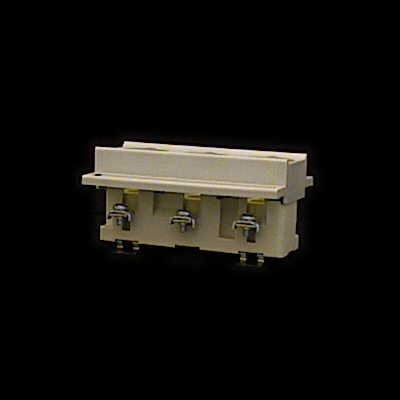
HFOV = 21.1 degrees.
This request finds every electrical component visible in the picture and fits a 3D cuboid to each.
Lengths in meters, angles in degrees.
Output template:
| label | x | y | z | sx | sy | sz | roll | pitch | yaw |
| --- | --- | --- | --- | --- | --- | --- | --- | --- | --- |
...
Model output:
| label | x | y | z | sx | sy | sz | roll | pitch | yaw |
| --- | --- | --- | --- | --- | --- | --- | --- | --- | --- |
| electrical component | 0.000 | 0.000 | 0.658 | 0.121 | 0.063 | 0.078 | 5 | 10 | 20 |
